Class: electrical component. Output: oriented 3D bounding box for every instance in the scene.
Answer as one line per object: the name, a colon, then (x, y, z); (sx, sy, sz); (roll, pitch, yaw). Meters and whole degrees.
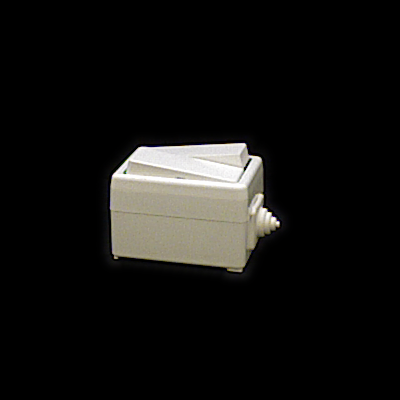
electrical component: (0.000, 0.000, 0.639); (0.096, 0.061, 0.061); (5, 21, 11)
